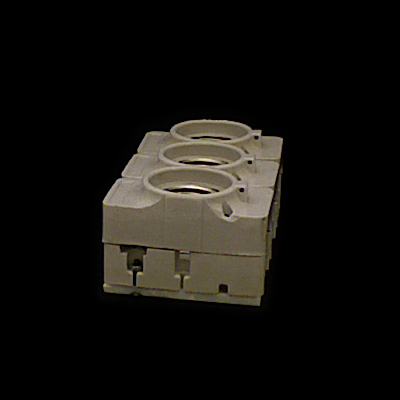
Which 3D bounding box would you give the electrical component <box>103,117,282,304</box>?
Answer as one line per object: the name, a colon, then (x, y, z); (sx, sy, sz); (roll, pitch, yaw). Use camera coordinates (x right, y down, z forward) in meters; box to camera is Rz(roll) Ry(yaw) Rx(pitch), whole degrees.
electrical component: (0.000, 0.000, 0.646); (0.089, 0.063, 0.147); (4, 21, 6)
